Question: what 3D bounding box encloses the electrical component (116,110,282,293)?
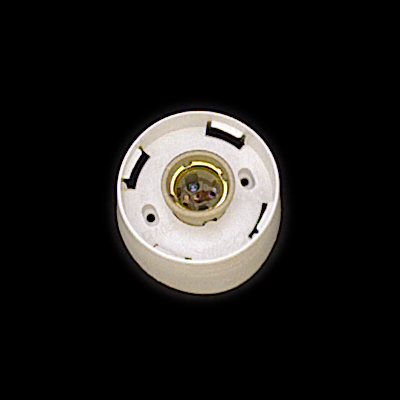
[{"bbox_3d":[0.000,0.000,0.625,0.099,0.099,0.064,0,-16,0],"label":"electrical component"}]
